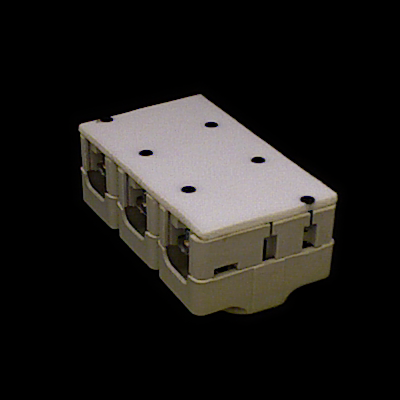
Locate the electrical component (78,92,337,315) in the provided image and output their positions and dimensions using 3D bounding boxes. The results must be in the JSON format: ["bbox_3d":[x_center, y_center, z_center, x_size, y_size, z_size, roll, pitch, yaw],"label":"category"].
[{"bbox_3d":[0.000,0.000,0.639,0.089,0.063,0.147,-17,36,-26],"label":"electrical component"}]
